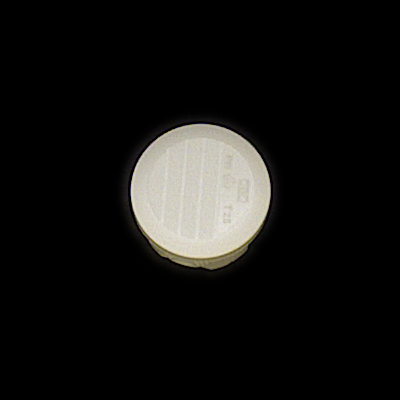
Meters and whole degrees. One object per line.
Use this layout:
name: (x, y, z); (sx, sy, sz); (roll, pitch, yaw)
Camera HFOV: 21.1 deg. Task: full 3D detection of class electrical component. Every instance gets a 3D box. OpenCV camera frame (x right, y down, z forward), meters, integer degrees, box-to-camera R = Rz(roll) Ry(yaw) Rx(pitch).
electrical component: (0.000, 0.000, 0.629); (0.080, 0.080, 0.050); (0, -17, 0)
